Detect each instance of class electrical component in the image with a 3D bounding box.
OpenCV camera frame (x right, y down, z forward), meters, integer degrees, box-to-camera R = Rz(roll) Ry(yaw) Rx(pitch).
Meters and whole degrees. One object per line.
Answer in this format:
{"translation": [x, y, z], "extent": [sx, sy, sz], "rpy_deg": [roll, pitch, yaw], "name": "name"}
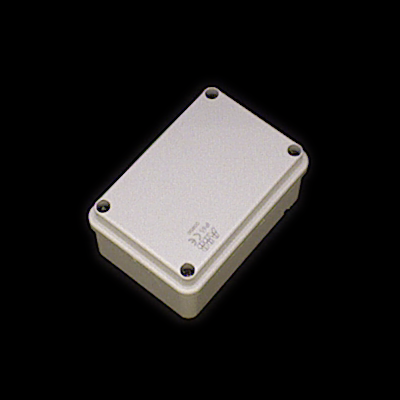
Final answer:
{"translation": [0.000, 0.000, 0.626], "extent": [0.078, 0.113, 0.057], "rpy_deg": [36, -22, 16], "name": "electrical component"}
